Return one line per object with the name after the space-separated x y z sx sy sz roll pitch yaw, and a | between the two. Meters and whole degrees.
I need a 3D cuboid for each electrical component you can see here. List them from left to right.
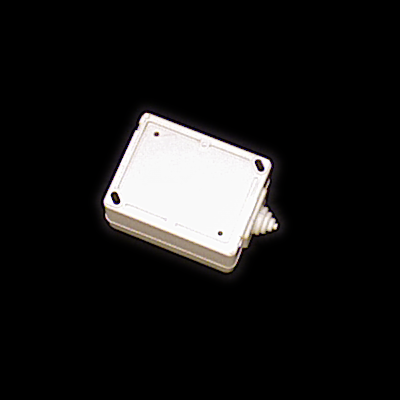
0.000 0.000 0.627 0.096 0.062 0.060 21 -16 5 | electrical component
